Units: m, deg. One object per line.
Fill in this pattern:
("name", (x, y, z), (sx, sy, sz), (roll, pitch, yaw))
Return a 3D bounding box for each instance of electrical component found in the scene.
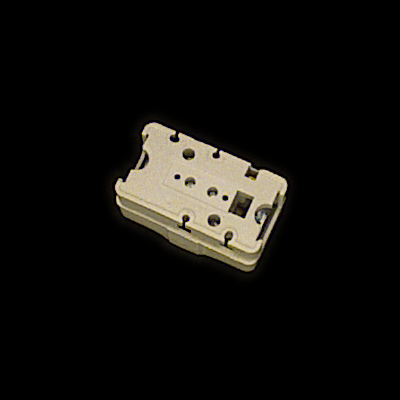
("electrical component", (0.000, 0.000, 0.636), (0.089, 0.050, 0.055), (24, -15, 7))
